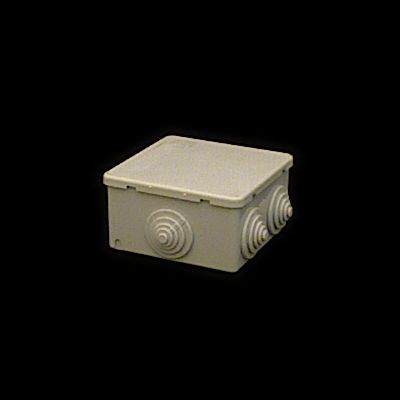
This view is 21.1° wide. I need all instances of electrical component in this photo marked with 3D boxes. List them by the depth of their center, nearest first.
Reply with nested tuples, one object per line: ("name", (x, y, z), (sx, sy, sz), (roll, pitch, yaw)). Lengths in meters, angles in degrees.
("electrical component", (0.000, 0.000, 0.649), (0.099, 0.049, 0.099), (11, 24, 22))
